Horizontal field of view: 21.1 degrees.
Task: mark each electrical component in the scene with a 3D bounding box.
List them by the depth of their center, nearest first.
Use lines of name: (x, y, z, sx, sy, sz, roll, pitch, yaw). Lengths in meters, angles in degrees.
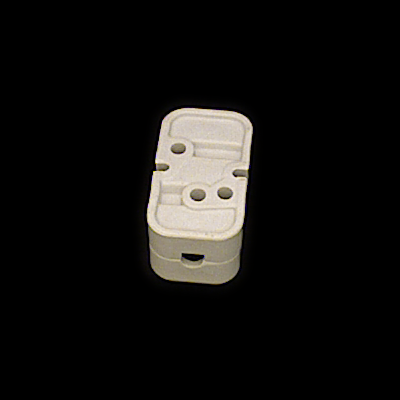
electrical component: (0.000, 0.000, 0.637, 0.053, 0.094, 0.059, 5, -37, 3)
